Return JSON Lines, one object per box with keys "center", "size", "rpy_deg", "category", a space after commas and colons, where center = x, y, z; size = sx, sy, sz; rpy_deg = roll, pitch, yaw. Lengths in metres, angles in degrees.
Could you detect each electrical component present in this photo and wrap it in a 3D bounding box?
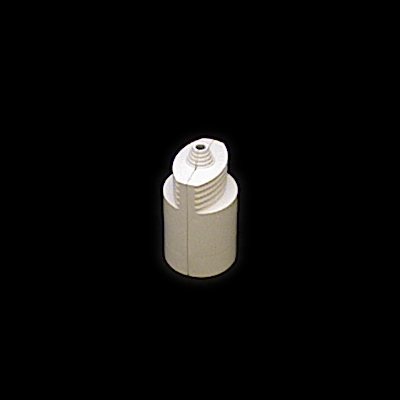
{"center": [0.000, 0.000, 0.624], "size": [0.043, 0.082, 0.042], "rpy_deg": [1, 41, 0], "category": "electrical component"}
